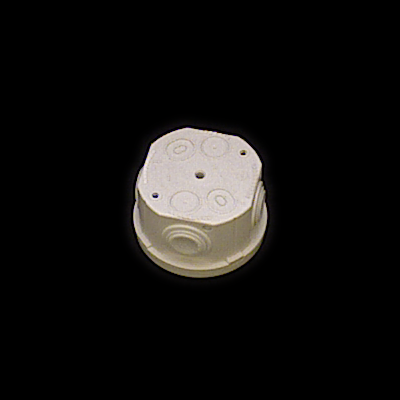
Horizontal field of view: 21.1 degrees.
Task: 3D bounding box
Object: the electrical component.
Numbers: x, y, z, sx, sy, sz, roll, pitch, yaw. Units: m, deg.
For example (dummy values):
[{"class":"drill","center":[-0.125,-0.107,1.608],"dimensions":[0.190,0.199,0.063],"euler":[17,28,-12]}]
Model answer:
[{"class":"electrical component","center":[0.000,0.000,0.632],"dimensions":[0.080,0.080,0.051],"euler":[0,-37,0]}]
